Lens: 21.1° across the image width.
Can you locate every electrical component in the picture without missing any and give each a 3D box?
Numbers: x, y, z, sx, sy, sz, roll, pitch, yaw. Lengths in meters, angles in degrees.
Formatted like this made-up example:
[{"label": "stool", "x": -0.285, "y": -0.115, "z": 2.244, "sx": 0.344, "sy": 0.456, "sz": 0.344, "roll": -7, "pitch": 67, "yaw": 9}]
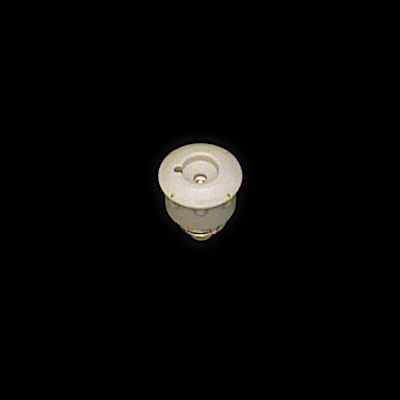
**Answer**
[{"label": "electrical component", "x": 0.000, "y": 0.000, "z": 0.633, "sx": 0.048, "sy": 0.048, "sz": 0.062, "roll": 0, "pitch": -37, "yaw": 0}]
